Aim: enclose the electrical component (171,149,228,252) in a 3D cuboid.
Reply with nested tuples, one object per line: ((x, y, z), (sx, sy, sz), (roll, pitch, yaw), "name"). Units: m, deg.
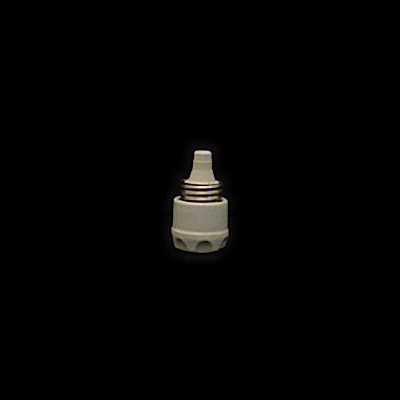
((0.000, 0.000, 0.658), (0.035, 0.062, 0.035), (2, 13, 0), "electrical component")
